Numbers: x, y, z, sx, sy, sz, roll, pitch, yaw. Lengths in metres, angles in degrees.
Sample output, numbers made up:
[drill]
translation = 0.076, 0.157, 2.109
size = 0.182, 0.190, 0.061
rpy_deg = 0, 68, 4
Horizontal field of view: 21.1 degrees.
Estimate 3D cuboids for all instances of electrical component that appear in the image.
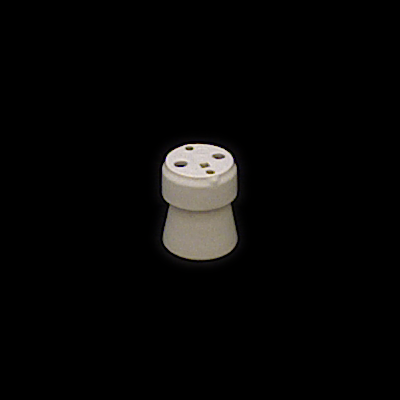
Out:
[electrical component]
translation = 0.000, 0.000, 0.635
size = 0.045, 0.056, 0.044
rpy_deg = 0, 31, 0
